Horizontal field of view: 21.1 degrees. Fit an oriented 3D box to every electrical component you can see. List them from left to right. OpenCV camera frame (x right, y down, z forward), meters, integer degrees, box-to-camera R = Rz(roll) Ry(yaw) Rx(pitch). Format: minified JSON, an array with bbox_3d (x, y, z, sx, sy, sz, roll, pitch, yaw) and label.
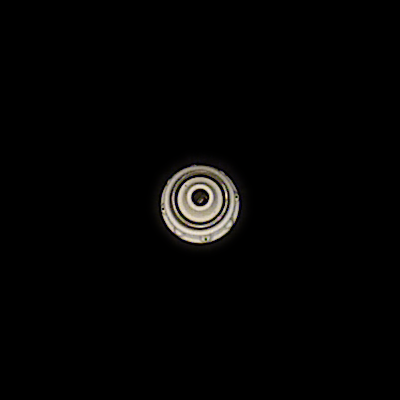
[{"bbox_3d":[0.000,0.000,0.635,0.048,0.048,0.062,0,-5,0],"label":"electrical component"}]
